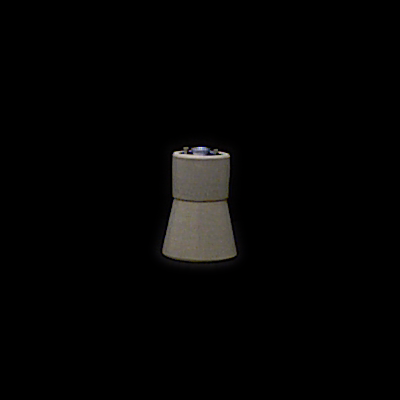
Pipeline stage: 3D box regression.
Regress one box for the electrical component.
[{"bbox_3d":[0.000,0.000,0.645,0.044,0.066,0.044,1,10,0],"label":"electrical component"}]
